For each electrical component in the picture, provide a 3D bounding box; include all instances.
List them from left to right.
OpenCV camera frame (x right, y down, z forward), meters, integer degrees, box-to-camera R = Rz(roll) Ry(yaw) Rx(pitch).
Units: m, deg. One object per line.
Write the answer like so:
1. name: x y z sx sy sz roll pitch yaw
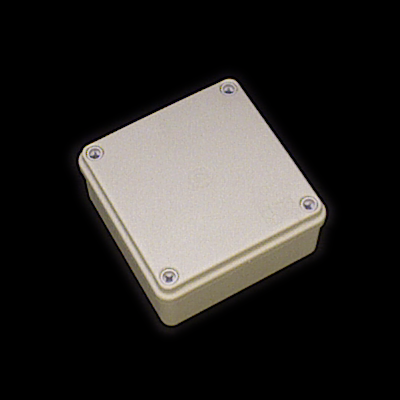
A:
1. electrical component: 0.000 0.000 0.629 0.109 0.108 0.056 -27 -25 -13
